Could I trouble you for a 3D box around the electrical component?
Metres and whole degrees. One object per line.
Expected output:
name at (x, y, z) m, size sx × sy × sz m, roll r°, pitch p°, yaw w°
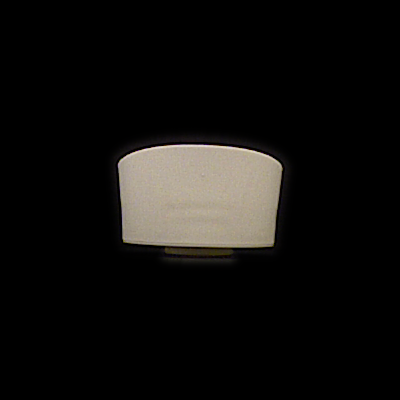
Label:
electrical component at (0.000, 0.000, 0.649) m, size 0.099 × 0.064 × 0.099 m, roll 2°, pitch 1°, yaw 0°
